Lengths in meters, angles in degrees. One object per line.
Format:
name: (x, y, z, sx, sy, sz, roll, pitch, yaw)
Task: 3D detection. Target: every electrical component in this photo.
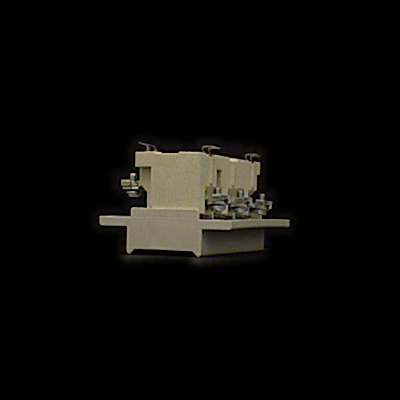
electrical component: (0.000, 0.000, 0.657, 0.078, 0.063, 0.122, 2, 1, 20)
